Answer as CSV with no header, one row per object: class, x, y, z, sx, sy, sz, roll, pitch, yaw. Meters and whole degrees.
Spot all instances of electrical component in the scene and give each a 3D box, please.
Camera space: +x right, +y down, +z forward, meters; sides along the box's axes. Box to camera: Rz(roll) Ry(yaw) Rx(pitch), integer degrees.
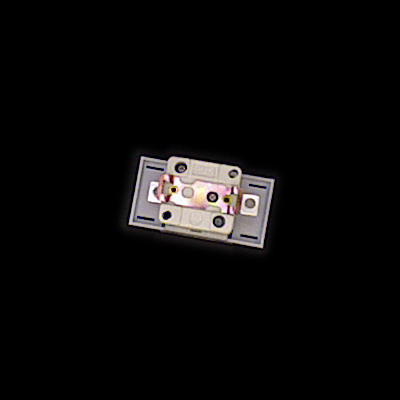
electrical component,0.000,0.000,0.626,0.081,0.042,0.063,9,-6,1
